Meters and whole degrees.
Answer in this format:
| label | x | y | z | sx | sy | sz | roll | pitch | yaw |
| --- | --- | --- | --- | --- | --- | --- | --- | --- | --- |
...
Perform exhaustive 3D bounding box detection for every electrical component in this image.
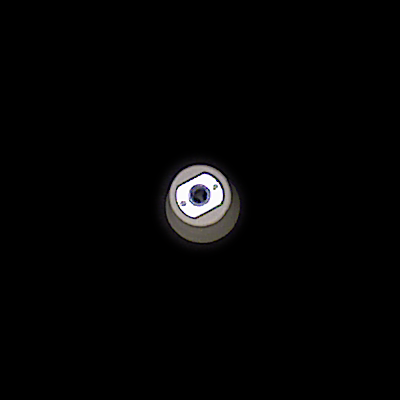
| label | x | y | z | sx | sy | sz | roll | pitch | yaw |
| --- | --- | --- | --- | --- | --- | --- | --- | --- | --- |
| electrical component | 0.000 | 0.000 | 0.626 | 0.044 | 0.044 | 0.065 | 0 | -7 | 1 |
